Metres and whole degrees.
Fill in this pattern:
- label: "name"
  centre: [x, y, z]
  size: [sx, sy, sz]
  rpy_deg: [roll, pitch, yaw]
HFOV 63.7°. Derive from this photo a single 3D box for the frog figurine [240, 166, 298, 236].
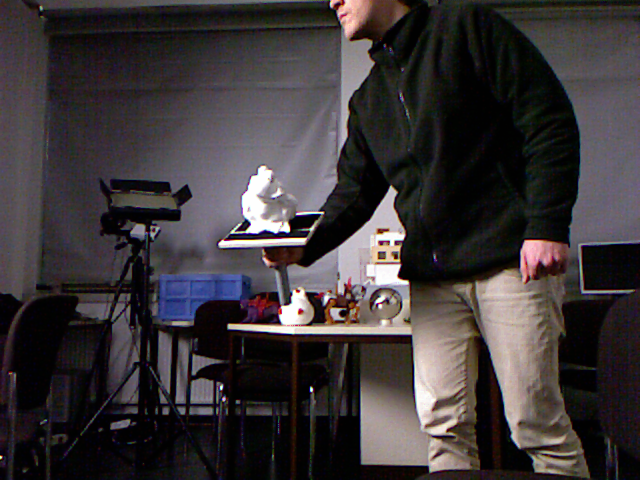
- label: "frog figurine"
  centre: [-0.122, -0.098, 1.184]
  size: [0.138, 0.157, 0.125]
  rpy_deg: [7, 26, 30]
